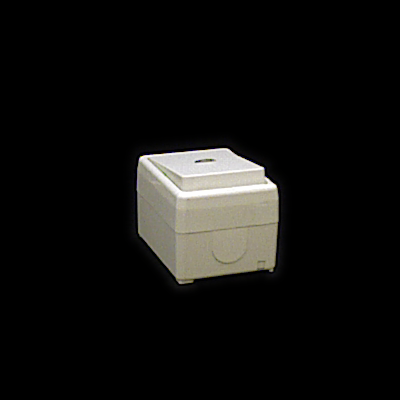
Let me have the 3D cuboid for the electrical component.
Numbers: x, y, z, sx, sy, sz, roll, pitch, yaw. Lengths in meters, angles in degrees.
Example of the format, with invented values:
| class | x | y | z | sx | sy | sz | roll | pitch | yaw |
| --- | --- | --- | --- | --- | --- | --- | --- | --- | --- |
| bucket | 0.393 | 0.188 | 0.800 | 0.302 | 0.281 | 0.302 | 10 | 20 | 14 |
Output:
| class | x | y | z | sx | sy | sz | roll | pitch | yaw |
| --- | --- | --- | --- | --- | --- | --- | --- | --- | --- |
| electrical component | 0.000 | 0.000 | 0.641 | 0.062 | 0.061 | 0.095 | -7 | 22 | -19 |
